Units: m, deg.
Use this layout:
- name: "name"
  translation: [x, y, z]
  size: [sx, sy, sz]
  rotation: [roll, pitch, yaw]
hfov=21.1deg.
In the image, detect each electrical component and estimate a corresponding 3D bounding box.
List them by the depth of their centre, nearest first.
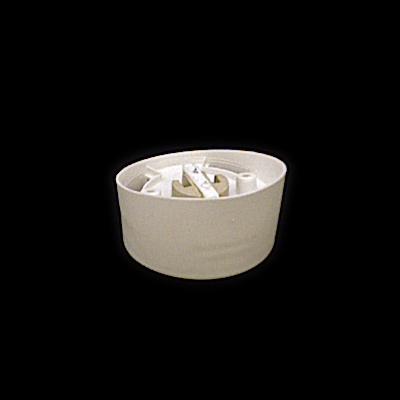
- name: "electrical component"
  translation: [0.000, 0.000, 0.632]
  size: [0.099, 0.065, 0.097]
  rotation: [1, 32, -1]
